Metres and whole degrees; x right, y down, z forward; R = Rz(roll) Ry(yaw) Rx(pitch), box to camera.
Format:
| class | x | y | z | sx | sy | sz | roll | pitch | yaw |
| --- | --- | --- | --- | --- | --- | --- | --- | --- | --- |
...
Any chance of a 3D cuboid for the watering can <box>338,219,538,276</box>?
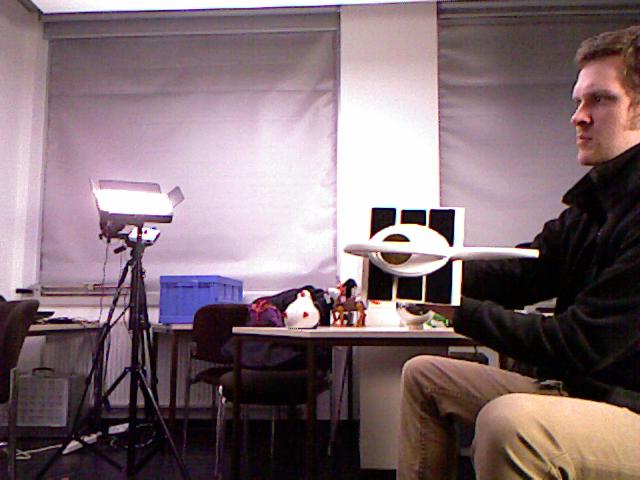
| class | x | y | z | sx | sy | sz | roll | pitch | yaw |
| --- | --- | --- | --- | --- | --- | --- | --- | --- | --- |
| watering can | 0.212 | 0.016 | 0.990 | 0.349 | 0.104 | 0.226 | 3 | 4 | 7 |
